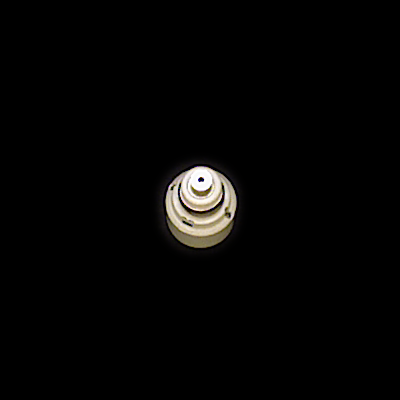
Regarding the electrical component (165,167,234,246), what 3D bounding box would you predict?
[{"bbox_3d":[0.000,0.000,0.618,0.040,0.040,0.078,0,-17,-1],"label":"electrical component"}]
